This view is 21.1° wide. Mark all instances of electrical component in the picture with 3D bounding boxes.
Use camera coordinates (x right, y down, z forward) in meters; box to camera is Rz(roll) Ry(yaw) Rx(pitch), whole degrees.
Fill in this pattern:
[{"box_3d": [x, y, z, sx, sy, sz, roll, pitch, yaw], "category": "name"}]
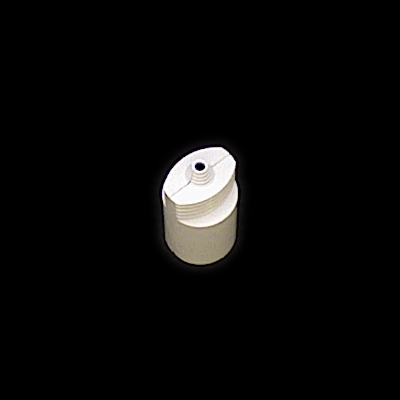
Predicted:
[{"box_3d": [0.000, 0.000, 0.617, 0.043, 0.043, 0.081, 0, -27, 0], "category": "electrical component"}]
